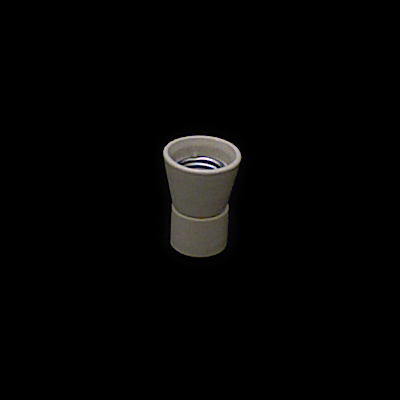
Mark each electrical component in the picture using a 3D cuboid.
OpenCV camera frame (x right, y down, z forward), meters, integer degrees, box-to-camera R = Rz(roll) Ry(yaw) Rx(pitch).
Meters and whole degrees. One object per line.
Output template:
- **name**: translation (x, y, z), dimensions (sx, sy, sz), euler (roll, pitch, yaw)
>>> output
- **electrical component**: translation (0.000, 0.000, 0.634), dimensions (0.044, 0.066, 0.044), euler (2, 31, -1)
